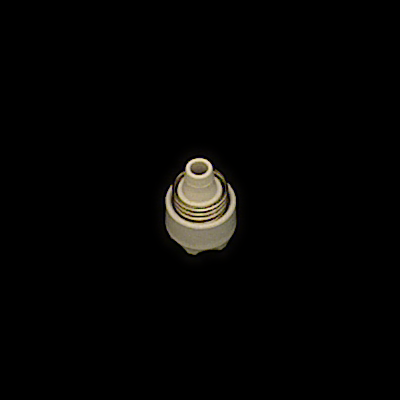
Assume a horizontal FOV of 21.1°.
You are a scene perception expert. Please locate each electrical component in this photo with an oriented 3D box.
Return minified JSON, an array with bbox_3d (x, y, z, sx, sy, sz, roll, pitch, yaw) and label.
[{"bbox_3d":[0.000,0.000,0.636,0.043,0.043,0.062,0,-38,1],"label":"electrical component"}]
